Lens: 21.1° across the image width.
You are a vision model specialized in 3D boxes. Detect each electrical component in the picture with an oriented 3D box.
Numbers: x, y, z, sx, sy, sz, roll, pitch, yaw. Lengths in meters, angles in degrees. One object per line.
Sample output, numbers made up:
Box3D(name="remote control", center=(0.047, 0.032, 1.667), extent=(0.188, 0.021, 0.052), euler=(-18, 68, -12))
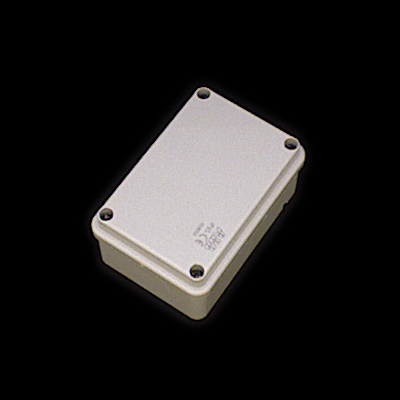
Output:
Box3D(name="electrical component", center=(0.000, 0.000, 0.626), extent=(0.078, 0.113, 0.057), euler=(31, -23, 14))
